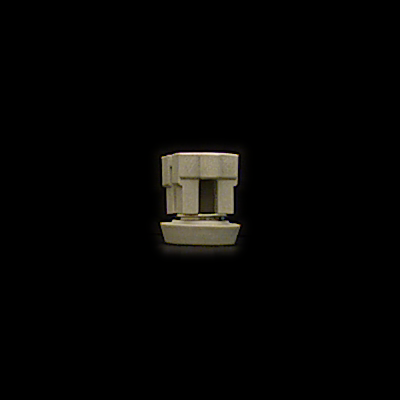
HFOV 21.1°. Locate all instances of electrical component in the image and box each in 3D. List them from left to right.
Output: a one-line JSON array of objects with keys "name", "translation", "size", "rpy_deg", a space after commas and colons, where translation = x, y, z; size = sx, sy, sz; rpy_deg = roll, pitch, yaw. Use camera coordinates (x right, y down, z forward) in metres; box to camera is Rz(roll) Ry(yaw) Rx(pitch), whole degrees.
[{"name": "electrical component", "translation": [0.000, 0.000, 0.655], "size": [0.049, 0.055, 0.066], "rpy_deg": [-1, 1, -16]}]
